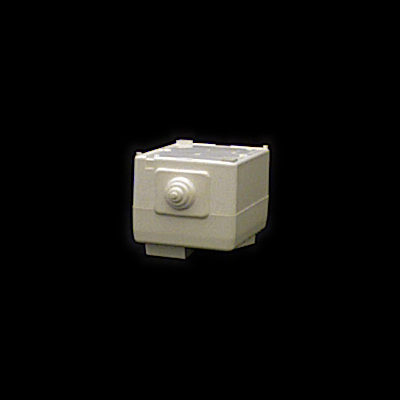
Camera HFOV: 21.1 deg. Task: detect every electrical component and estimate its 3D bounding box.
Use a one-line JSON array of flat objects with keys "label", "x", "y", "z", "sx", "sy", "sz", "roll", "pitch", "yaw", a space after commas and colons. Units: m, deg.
[{"label": "electrical component", "x": 0.000, "y": 0.000, "z": 0.636, "sx": 0.061, "sy": 0.061, "sz": 0.096, "roll": 5, "pitch": 11, "yaw": 17}]
